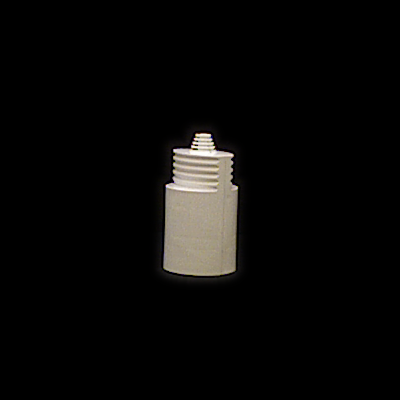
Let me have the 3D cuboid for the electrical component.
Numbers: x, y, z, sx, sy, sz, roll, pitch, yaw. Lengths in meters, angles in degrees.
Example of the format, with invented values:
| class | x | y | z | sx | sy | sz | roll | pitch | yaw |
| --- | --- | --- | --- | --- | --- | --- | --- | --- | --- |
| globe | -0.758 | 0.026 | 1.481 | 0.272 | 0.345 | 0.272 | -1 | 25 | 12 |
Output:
| class | x | y | z | sx | sy | sz | roll | pitch | yaw |
| --- | --- | --- | --- | --- | --- | --- | --- | --- | --- |
| electrical component | 0.000 | 0.000 | 0.641 | 0.043 | 0.081 | 0.043 | 1 | 11 | 0 |
